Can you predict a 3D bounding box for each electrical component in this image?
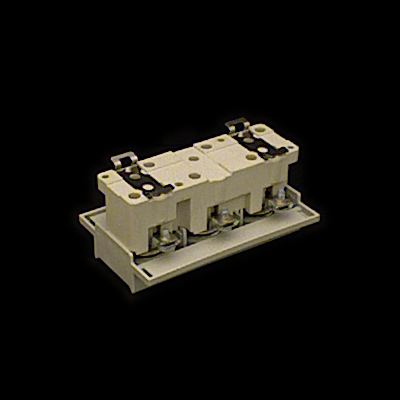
[{"bbox_3d":[0.000,0.000,0.639,0.121,0.064,0.077,-20,38,-29],"label":"electrical component"}]
